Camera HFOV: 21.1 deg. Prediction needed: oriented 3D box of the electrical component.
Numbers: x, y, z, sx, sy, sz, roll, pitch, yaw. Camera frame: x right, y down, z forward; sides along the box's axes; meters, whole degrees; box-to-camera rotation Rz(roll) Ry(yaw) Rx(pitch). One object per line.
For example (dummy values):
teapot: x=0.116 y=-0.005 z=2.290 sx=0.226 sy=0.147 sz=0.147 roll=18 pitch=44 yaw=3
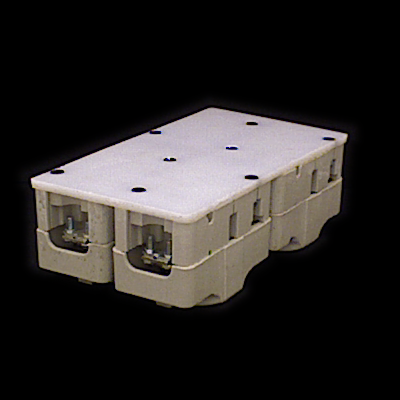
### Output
electrical component: x=0.000 y=0.000 z=0.638 sx=0.105 sy=0.061 sz=0.185 roll=14 pitch=24 yaw=30
